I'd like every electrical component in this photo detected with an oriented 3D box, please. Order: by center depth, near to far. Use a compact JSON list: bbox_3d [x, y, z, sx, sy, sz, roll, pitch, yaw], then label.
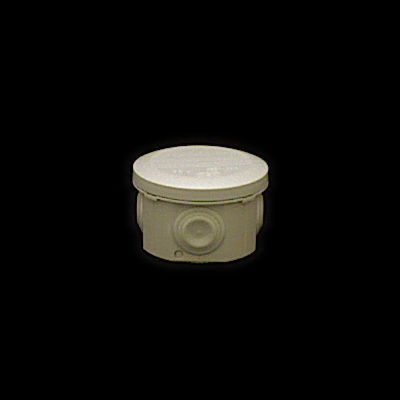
[{"bbox_3d":[0.000,0.000,0.639,0.080,0.051,0.079,1,21,0],"label":"electrical component"}]
